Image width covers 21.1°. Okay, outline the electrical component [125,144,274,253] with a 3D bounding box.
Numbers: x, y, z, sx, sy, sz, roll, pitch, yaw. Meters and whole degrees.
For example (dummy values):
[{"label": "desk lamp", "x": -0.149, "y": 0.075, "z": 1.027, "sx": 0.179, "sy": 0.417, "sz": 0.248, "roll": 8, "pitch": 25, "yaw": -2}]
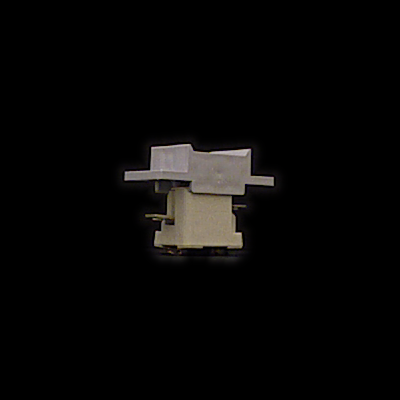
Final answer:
[{"label": "electrical component", "x": 0.000, "y": 0.000, "z": 0.648, "sx": 0.081, "sy": 0.064, "sz": 0.042, "roll": 2, "pitch": 2, "yaw": -34}]
